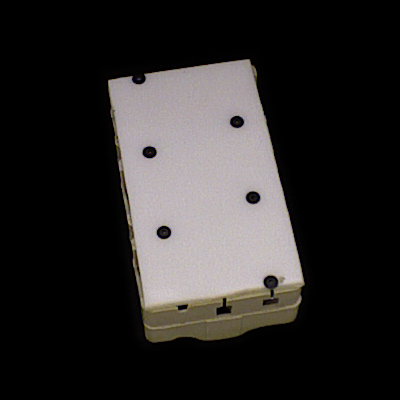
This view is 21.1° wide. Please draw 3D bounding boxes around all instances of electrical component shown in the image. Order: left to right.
[{"bbox_3d":[0.000,0.000,0.632,0.090,0.148,0.062,-8,-27,-5],"label":"electrical component"}]
